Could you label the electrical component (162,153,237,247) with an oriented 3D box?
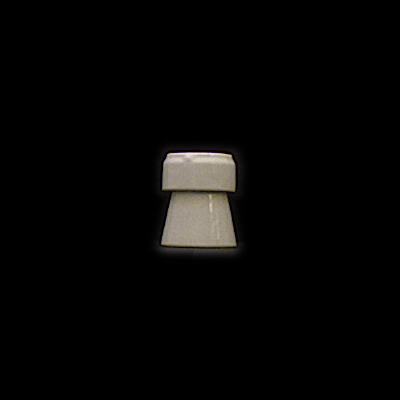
[{"bbox_3d":[0.000,0.000,0.650,0.045,0.055,0.045,1,0,0],"label":"electrical component"}]
